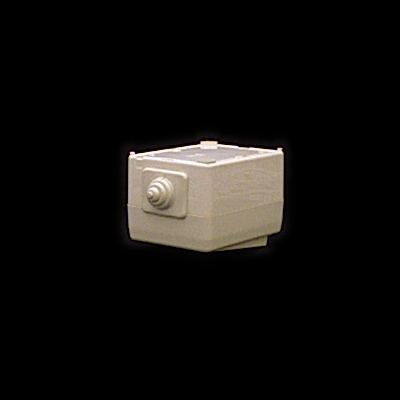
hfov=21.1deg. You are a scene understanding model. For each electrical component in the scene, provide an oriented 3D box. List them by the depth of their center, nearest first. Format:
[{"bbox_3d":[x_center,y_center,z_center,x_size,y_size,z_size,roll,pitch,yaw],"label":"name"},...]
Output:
[{"bbox_3d":[0.000,0.000,0.645,0.061,0.061,0.096,9,14,36],"label":"electrical component"}]
